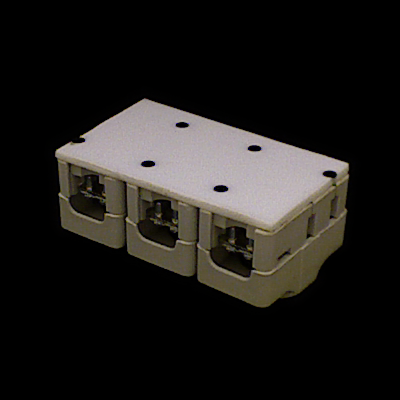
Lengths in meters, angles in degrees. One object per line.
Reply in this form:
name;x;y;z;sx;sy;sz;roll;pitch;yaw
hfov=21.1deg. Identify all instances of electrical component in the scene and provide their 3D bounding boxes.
electrical component;0.000;0.000;0.641;0.149;0.063;0.088;20;37;29
